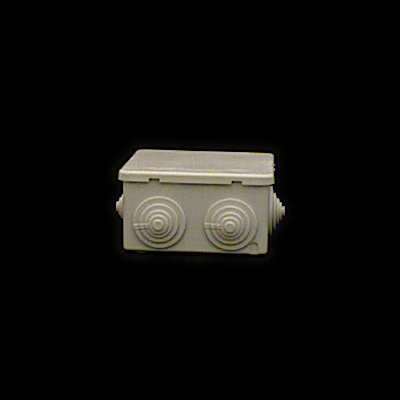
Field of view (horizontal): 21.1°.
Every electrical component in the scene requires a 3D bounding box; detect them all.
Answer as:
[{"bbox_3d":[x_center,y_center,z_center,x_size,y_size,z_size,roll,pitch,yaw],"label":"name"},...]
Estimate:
[{"bbox_3d":[0.000,0.000,0.650,0.099,0.049,0.099,2,11,3],"label":"electrical component"}]
